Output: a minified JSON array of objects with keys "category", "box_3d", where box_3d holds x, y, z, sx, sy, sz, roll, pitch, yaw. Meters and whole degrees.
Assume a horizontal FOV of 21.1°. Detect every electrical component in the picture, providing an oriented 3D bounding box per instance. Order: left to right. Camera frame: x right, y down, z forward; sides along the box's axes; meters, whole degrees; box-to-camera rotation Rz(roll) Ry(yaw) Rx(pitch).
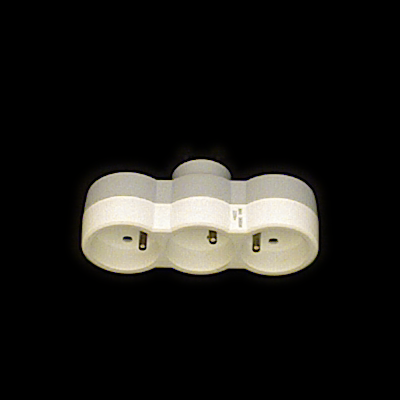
[{"category":"electrical component","box_3d":[0.000,0.000,0.641,0.138,0.073,0.052,1,-39,0]}]
